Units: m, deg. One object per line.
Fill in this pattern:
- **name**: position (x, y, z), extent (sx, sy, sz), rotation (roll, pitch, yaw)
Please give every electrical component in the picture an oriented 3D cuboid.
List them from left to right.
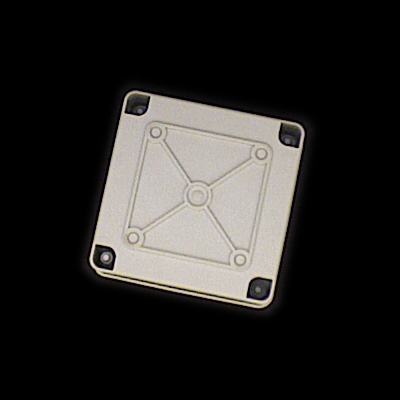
- **electrical component**: position (0.000, 0.000, 0.628), extent (0.109, 0.109, 0.056), rotation (12, -6, 2)
